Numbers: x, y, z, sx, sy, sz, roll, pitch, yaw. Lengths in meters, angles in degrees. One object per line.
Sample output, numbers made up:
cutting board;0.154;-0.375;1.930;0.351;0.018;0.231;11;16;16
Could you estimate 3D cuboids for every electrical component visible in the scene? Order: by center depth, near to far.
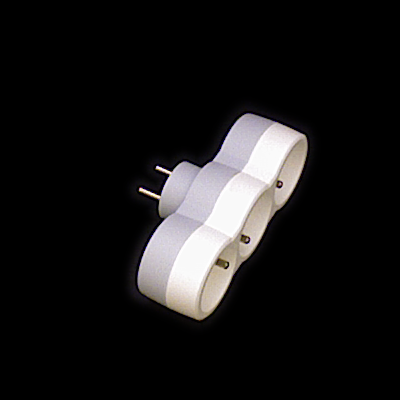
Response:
electrical component;0.000;0.000;0.630;0.073;0.138;0.052;24;-33;19
